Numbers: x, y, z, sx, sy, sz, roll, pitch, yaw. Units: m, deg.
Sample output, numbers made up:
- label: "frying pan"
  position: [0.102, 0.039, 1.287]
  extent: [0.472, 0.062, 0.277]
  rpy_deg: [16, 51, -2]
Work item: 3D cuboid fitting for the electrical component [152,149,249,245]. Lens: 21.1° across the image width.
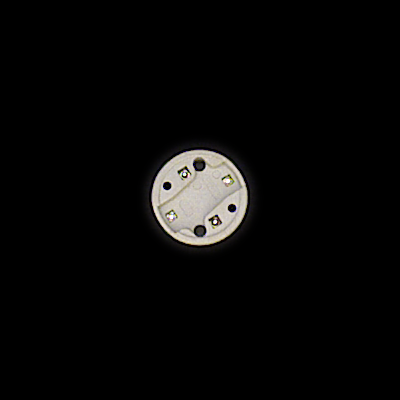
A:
- label: "electrical component"
  position: [0.000, 0.000, 0.636]
  extent: [0.055, 0.055, 0.047]
  rpy_deg: [0, -6, 0]
